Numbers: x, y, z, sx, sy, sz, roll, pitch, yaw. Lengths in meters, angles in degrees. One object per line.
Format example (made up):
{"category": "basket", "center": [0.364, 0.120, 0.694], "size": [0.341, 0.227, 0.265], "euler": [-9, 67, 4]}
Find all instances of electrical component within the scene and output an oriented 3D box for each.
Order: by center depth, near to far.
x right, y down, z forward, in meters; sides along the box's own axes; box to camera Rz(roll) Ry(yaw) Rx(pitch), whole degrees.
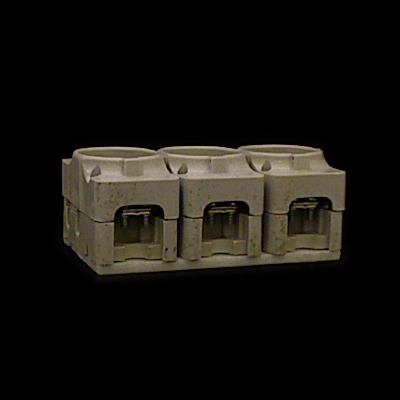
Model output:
{"category": "electrical component", "center": [0.000, 0.000, 0.649], "size": [0.150, 0.062, 0.088], "euler": [-3, 11, -20]}
